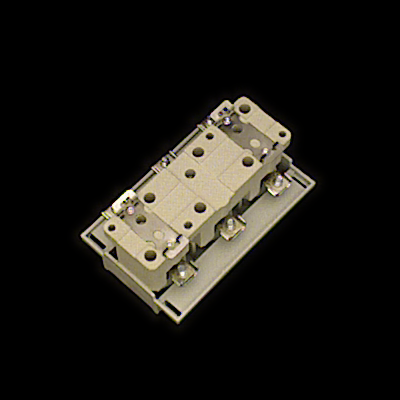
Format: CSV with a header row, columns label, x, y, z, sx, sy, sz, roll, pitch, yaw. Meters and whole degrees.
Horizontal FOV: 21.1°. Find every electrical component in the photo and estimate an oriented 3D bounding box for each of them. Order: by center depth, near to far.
label,x,y,z,sx,sy,sz,roll,pitch,yaw
electrical component,0.000,0.000,0.633,0.078,0.122,0.063,40,-20,17
